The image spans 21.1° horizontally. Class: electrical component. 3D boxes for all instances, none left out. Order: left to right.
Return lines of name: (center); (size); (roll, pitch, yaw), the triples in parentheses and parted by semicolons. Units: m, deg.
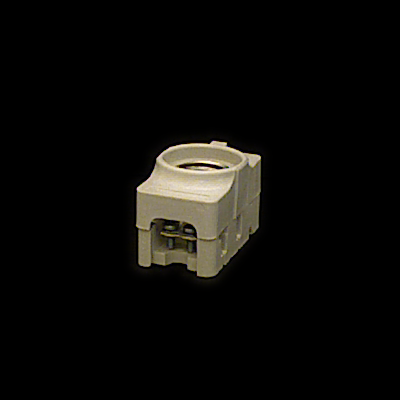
electrical component: (0.000, 0.000, 0.646); (0.050, 0.056, 0.089); (9, 23, 18)
